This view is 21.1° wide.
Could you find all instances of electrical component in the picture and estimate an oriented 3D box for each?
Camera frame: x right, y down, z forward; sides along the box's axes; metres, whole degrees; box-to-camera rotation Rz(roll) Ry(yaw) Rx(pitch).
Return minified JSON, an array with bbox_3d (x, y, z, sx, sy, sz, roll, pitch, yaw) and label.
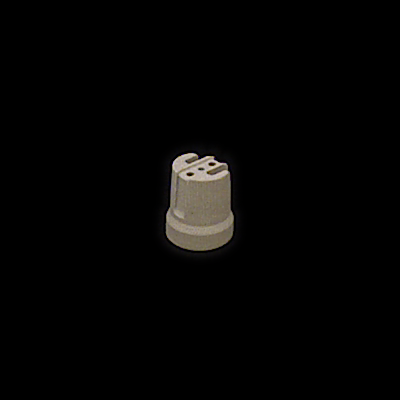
[{"bbox_3d":[0.000,0.000,0.638,0.040,0.046,0.040,1,33,0],"label":"electrical component"}]
